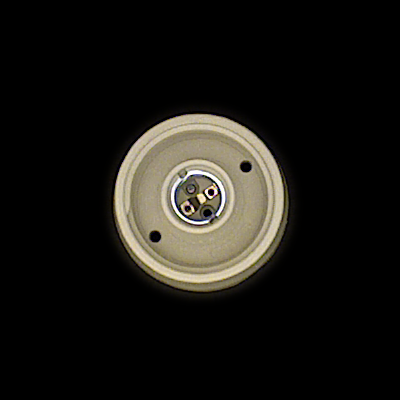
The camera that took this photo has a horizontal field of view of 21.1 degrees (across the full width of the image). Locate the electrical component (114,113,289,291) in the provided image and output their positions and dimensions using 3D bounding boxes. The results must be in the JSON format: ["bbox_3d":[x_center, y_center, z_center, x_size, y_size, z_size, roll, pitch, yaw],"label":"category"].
[{"bbox_3d":[0.000,0.000,0.635,0.108,0.108,0.060,0,-6,0],"label":"electrical component"}]
